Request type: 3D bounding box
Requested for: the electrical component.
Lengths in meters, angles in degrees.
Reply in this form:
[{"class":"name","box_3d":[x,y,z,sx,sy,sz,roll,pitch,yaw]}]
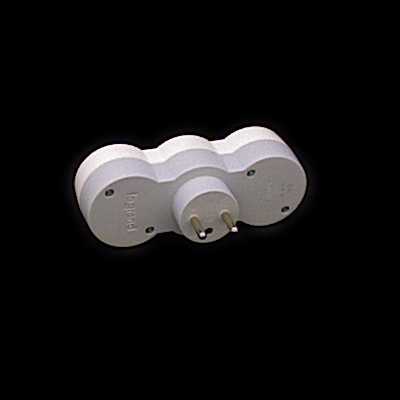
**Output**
[{"class":"electrical component","box_3d":[0.000,0.000,0.638,0.138,0.053,0.073,-8,35,-16]}]
